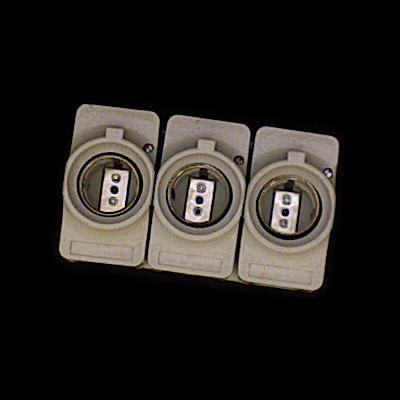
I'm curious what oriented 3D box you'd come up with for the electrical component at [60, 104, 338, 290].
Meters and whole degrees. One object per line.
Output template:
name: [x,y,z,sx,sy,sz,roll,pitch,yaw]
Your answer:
electrical component: [0.000,0.000,0.632,0.150,0.089,0.061,7,-7,0]
